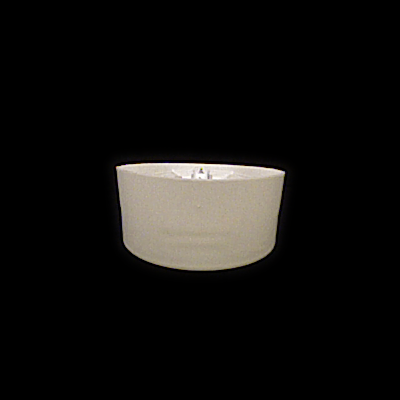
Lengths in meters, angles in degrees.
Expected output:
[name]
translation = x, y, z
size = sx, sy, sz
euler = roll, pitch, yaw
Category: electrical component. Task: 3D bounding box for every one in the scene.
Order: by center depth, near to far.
[electrical component]
translation = 0.000, 0.000, 0.637
size = 0.099, 0.065, 0.097
euler = 1, 21, 0
